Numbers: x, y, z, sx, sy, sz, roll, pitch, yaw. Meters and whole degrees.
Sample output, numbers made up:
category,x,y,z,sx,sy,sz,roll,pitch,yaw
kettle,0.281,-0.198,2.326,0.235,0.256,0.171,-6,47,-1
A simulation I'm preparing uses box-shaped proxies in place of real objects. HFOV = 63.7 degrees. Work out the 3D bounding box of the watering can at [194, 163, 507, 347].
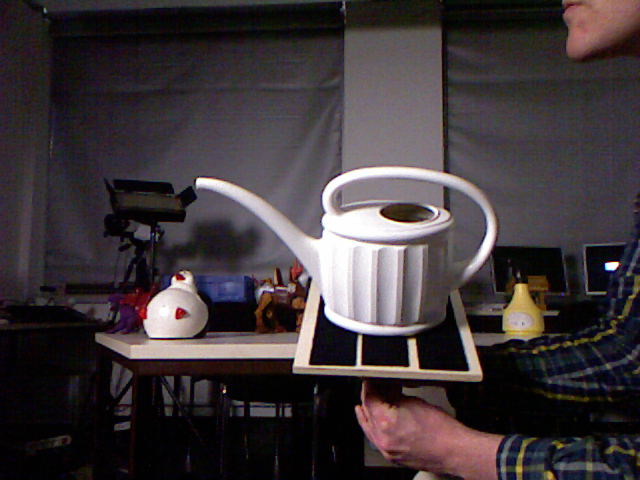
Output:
category,x,y,z,sx,sy,sz,roll,pitch,yaw
watering can,0.035,0.015,0.608,0.350,0.222,0.107,2,26,4
